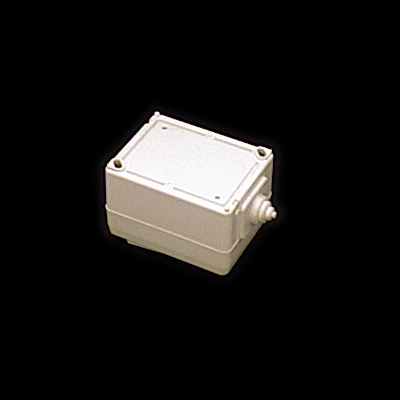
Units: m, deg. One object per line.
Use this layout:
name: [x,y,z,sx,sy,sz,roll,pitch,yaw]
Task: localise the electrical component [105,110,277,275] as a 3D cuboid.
electrical component: [0.000,0.000,0.629,0.096,0.061,0.061,20,45,19]
